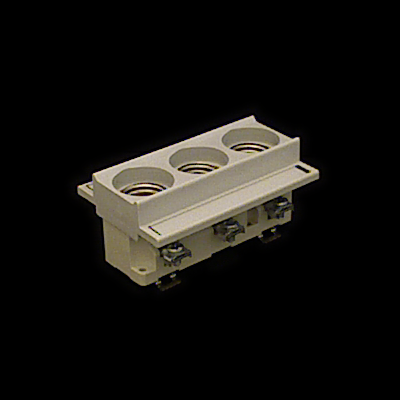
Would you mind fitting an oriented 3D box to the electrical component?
[{"bbox_3d":[0.000,0.000,0.646,0.121,0.064,0.077,-22,37,-32],"label":"electrical component"}]
